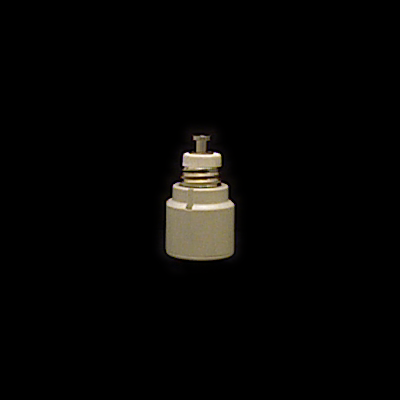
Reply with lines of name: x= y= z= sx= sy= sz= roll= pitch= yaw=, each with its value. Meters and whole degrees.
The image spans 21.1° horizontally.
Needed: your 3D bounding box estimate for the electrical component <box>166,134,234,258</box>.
electrical component: x=0.000 y=0.000 z=0.644 sx=0.040 sy=0.079 sz=0.040 roll=1 pitch=12 yaw=0
